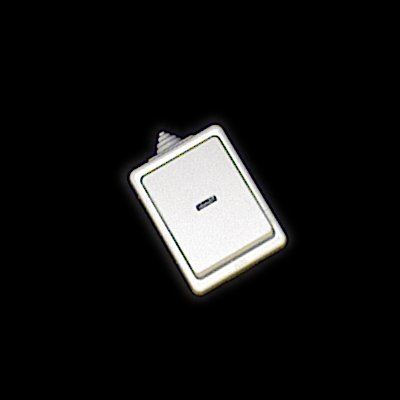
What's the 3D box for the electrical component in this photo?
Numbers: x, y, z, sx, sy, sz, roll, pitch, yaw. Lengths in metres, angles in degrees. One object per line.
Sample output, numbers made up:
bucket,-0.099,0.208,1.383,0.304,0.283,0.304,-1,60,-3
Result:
electrical component,0.000,0.000,0.627,0.062,0.096,0.061,-30,-6,-3
